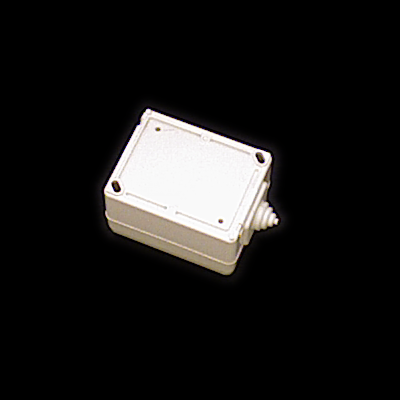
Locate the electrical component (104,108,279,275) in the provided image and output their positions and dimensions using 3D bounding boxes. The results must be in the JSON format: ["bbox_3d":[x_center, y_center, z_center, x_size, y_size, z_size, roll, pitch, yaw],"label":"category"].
[{"bbox_3d":[0.000,0.000,0.626,0.096,0.062,0.060,21,-25,9],"label":"electrical component"}]
